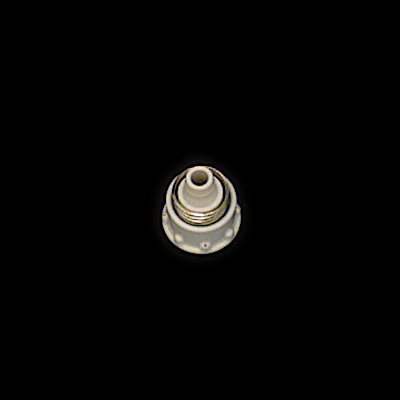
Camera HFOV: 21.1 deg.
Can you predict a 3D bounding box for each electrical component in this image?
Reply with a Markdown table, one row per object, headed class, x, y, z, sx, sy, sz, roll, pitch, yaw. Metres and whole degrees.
| class | x | y | z | sx | sy | sz | roll | pitch | yaw |
| --- | --- | --- | --- | --- | --- | --- | --- | --- | --- |
| electrical component | 0.000 | 0.000 | 0.632 | 0.048 | 0.048 | 0.062 | 0 | -26 | 1 |
